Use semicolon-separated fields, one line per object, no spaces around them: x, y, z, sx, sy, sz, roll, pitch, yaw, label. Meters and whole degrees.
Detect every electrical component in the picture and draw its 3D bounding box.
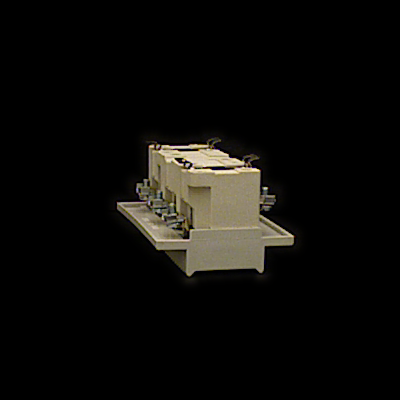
0.000;0.000;0.649;0.079;0.063;0.120;-2;11;-15;electrical component
